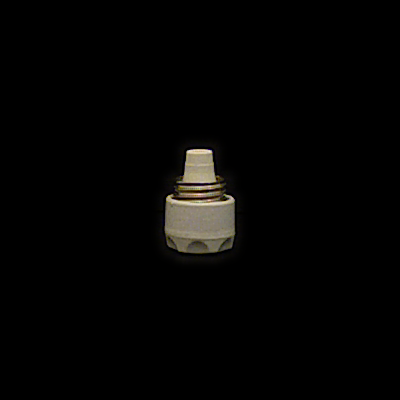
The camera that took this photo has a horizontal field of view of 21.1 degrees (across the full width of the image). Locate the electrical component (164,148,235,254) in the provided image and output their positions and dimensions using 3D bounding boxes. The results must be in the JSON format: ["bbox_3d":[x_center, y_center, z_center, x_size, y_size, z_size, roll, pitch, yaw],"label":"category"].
[{"bbox_3d":[0.000,0.000,0.651,0.043,0.062,0.043,0,11,1],"label":"electrical component"}]
